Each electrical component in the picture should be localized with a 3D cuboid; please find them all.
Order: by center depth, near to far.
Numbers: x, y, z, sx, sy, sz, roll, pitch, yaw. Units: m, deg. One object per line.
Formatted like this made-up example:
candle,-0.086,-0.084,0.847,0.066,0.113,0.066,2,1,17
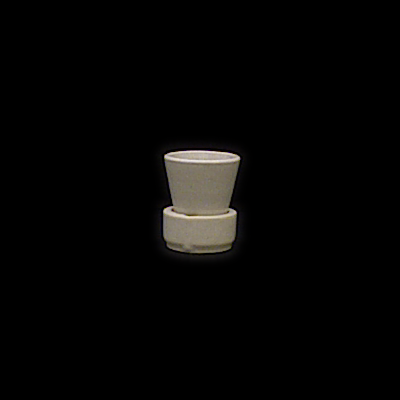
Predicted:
electrical component,0.000,0.000,0.646,0.045,0.055,0.044,2,12,0
